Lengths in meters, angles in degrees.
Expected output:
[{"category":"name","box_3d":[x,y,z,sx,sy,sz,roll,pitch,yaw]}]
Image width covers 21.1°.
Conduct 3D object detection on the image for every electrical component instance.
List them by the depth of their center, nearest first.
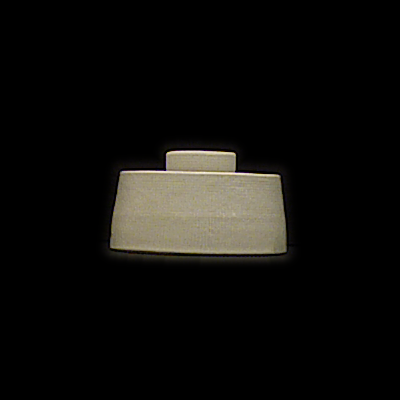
[{"category":"electrical component","box_3d":[0.000,0.000,0.656,0.108,0.060,0.108,1,0,0]}]
